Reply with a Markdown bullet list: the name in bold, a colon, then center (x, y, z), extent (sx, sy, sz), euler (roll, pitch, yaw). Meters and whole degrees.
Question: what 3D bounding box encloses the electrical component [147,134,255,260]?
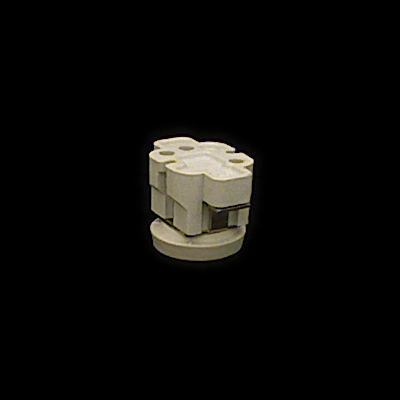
- **electrical component**: center (0.000, 0.000, 0.646), extent (0.058, 0.057, 0.077), euler (-12, 27, -30)
